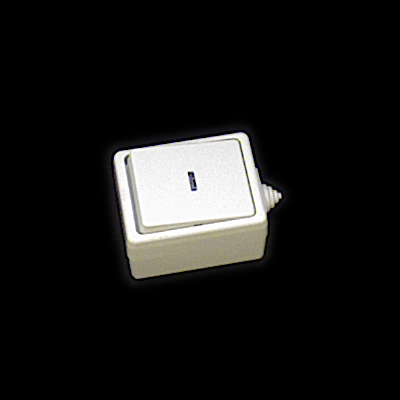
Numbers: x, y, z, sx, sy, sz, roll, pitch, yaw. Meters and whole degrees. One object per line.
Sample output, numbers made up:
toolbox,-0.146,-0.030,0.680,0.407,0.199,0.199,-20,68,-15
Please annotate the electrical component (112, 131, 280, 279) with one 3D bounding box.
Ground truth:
electrical component,0.000,0.000,0.626,0.096,0.062,0.061,-9,-27,-5
